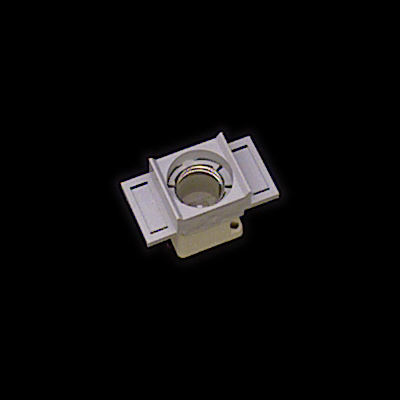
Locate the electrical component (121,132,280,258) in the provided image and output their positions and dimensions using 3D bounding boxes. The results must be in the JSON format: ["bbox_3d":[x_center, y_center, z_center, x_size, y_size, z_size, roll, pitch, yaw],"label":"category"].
[{"bbox_3d":[0.000,0.000,0.623,0.081,0.042,0.063,-20,-24,-11],"label":"electrical component"}]
